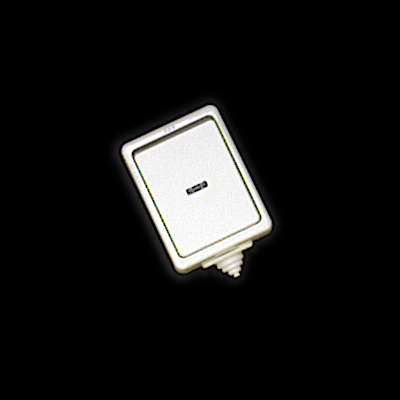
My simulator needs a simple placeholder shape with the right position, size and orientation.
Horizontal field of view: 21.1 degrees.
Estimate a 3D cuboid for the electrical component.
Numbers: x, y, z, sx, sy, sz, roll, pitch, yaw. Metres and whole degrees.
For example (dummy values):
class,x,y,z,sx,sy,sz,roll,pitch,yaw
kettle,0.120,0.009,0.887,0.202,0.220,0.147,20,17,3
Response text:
class,x,y,z,sx,sy,sz,roll,pitch,yaw
electrical component,0.000,0.000,0.626,0.062,0.096,0.061,-25,-6,-2
